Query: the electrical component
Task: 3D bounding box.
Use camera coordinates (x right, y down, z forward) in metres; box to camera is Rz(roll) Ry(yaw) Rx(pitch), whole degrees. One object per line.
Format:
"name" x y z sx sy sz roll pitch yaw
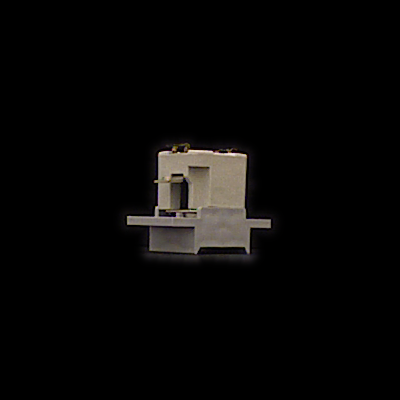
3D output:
"electrical component" 0.000 0.000 0.650 0.081 0.064 0.042 1 1 -44
